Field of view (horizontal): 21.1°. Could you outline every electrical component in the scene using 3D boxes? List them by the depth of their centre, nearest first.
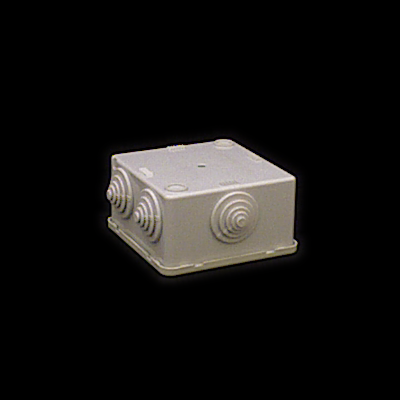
[{"bbox_3d":[0.000,0.000,0.641,0.100,0.049,0.098,-9,23,-25],"label":"electrical component"}]
